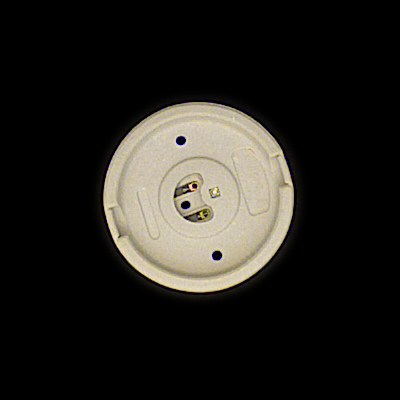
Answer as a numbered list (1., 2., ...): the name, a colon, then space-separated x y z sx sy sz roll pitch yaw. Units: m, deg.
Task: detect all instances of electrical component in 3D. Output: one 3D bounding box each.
1. electrical component: 0.000 0.000 0.635 0.108 0.108 0.060 0 -6 0
